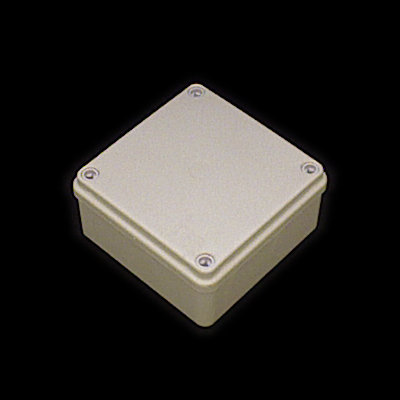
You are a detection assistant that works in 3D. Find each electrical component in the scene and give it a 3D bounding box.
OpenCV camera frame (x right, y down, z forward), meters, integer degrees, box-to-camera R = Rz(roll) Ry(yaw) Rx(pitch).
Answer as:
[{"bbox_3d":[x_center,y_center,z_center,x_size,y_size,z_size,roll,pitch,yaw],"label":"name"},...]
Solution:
[{"bbox_3d":[0.000,0.000,0.631,0.108,0.056,0.109,36,59,24],"label":"electrical component"}]
